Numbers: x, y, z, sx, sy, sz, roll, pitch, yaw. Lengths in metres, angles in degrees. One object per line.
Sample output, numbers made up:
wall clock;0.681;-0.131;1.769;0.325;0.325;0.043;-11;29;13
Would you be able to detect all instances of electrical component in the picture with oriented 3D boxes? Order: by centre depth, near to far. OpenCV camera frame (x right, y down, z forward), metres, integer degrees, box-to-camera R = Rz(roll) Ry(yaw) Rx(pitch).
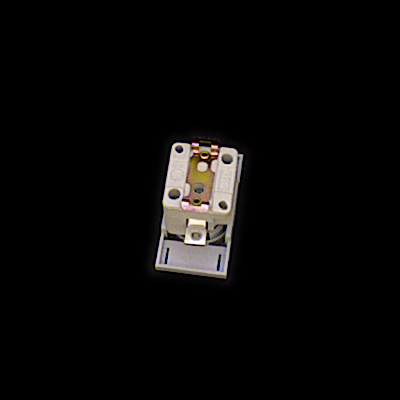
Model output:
electrical component;0.000;0.000;0.626;0.042;0.081;0.063;6;-27;3
